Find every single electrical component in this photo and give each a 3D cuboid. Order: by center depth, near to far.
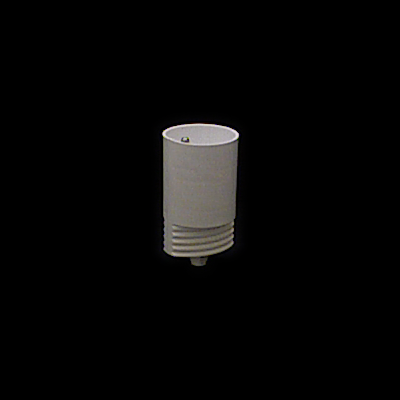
[{"bbox_3d":[0.000,0.000,0.632,0.043,0.082,0.042,0,21,0],"label":"electrical component"}]
